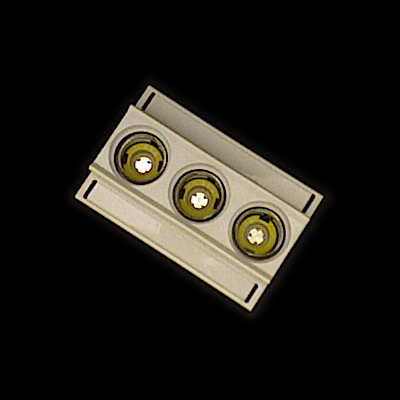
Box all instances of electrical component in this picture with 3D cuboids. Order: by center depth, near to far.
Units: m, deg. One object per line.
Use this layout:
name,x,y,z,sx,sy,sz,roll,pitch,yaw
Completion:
electrical component,0.000,0.000,0.637,0.121,0.079,0.063,33,-6,4
